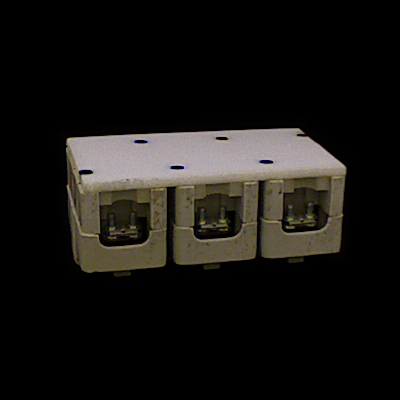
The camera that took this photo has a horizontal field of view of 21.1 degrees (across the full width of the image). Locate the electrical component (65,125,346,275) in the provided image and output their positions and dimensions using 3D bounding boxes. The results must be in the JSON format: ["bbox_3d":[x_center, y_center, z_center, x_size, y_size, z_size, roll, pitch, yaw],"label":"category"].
[{"bbox_3d":[0.000,0.000,0.642,0.150,0.063,0.088,-4,21,-12],"label":"electrical component"}]
